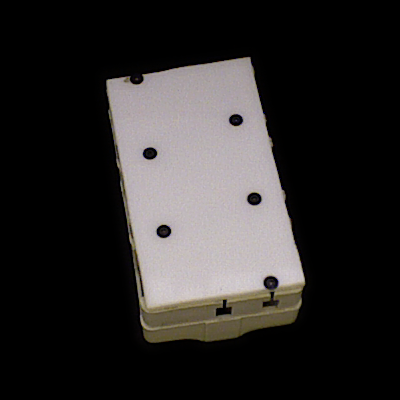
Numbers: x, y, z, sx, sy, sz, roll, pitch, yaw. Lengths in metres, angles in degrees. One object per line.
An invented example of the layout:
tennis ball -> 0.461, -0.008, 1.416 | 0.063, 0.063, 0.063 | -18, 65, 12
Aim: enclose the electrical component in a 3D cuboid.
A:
electrical component -> 0.000, 0.000, 0.630 | 0.089, 0.149, 0.062 | -9, -26, -4
